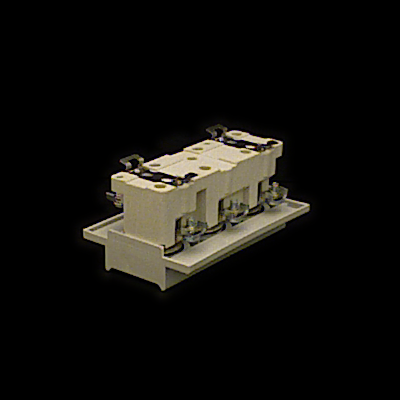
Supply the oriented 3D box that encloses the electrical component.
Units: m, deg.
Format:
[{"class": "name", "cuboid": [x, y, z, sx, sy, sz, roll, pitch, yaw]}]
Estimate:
[{"class": "electrical component", "cuboid": [0.000, 0.000, 0.645, 0.078, 0.064, 0.121, 17, 27, 34]}]
